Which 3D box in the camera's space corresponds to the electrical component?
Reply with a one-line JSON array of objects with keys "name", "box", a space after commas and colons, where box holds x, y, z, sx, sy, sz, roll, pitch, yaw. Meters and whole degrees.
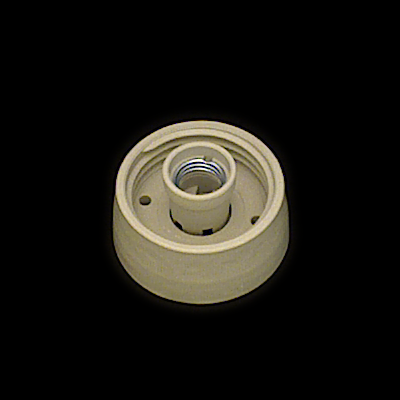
[{"name": "electrical component", "box": [0.000, 0.000, 0.636, 0.108, 0.107, 0.060, 0, -37, 0]}]
